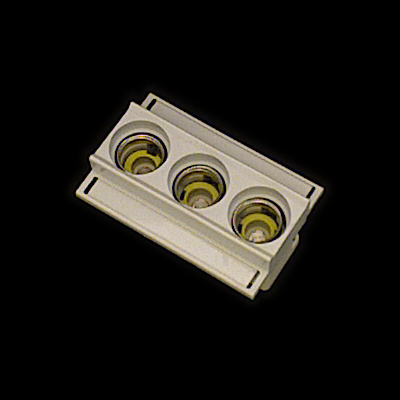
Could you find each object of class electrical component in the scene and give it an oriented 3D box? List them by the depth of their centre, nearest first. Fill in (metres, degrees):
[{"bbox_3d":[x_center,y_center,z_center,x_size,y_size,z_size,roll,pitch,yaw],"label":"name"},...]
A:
[{"bbox_3d":[0.000,0.000,0.637,0.121,0.079,0.063,30,-21,14],"label":"electrical component"}]
